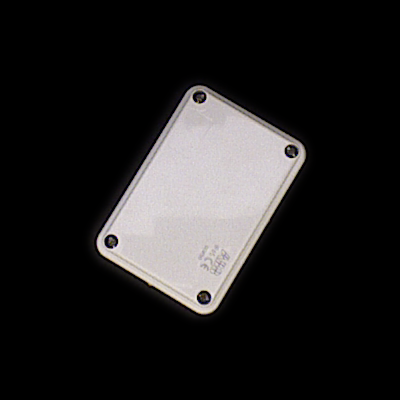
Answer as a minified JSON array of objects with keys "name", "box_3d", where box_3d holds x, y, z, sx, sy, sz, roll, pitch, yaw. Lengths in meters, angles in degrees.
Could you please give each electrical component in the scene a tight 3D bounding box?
[{"name":"electrical component","box_3d":[0.000,0.000,0.627,0.078,0.113,0.057,31,-6,4]}]
